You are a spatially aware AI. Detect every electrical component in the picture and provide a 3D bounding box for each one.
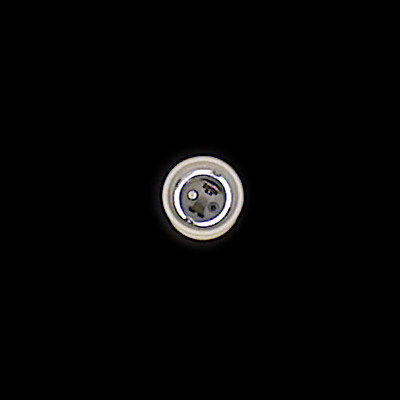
[{"bbox_3d":[0.000,0.000,0.629,0.045,0.045,0.055,0,-6,0],"label":"electrical component"}]
